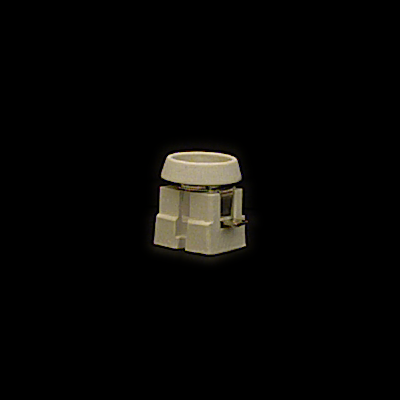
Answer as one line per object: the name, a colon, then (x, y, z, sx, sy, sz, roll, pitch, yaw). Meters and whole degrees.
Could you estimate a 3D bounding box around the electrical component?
electrical component: (0.000, 0.000, 0.652, 0.066, 0.056, 0.048, 10, 17, 37)
